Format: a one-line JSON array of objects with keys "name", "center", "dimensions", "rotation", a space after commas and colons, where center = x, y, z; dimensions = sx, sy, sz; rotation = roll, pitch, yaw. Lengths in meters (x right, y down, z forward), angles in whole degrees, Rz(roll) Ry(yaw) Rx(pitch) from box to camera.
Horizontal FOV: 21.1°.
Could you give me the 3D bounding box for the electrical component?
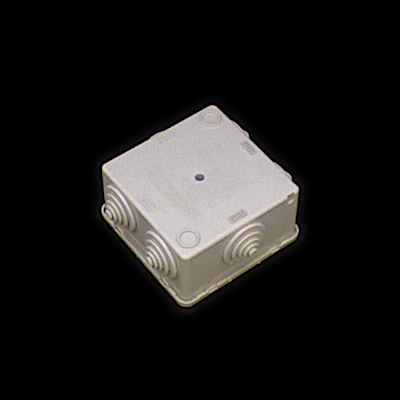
[{"name": "electrical component", "center": [0.000, 0.000, 0.632], "dimensions": [0.100, 0.099, 0.049], "rotation": [-31, -31, -22]}]
